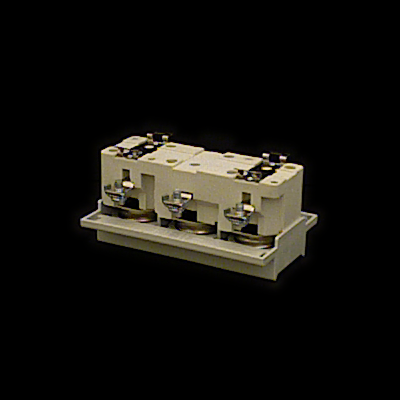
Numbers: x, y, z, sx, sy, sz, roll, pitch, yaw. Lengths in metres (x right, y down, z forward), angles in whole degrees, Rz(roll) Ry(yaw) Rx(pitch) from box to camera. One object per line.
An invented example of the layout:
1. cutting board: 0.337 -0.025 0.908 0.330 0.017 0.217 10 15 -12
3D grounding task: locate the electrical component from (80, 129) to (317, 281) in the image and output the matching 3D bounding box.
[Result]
1. electrical component: 0.000 0.000 0.649 0.120 0.064 0.078 12 23 25
